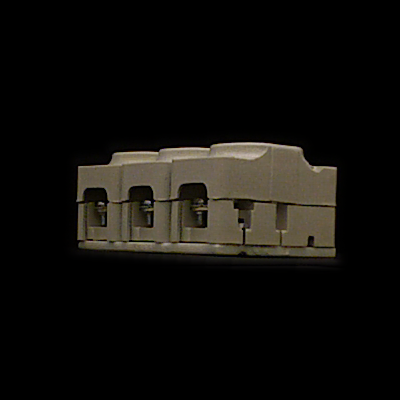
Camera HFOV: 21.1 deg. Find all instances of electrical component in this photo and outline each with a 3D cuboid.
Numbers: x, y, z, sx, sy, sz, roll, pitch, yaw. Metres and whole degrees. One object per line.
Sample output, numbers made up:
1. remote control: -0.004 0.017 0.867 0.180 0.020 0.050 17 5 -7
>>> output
1. electrical component: 0.000 0.000 0.658 0.090 0.062 0.150 2 -1 -38
